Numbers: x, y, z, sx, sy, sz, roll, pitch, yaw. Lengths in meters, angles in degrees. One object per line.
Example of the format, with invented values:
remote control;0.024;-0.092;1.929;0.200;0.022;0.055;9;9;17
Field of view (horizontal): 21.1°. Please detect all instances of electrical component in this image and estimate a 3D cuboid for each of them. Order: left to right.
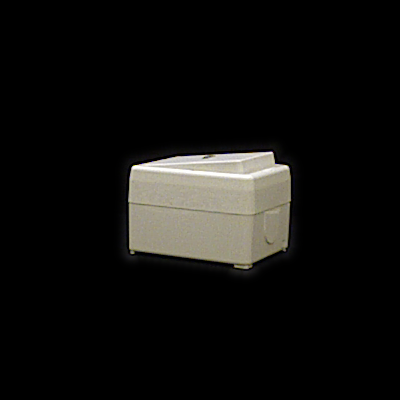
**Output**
electrical component;0.000;0.000;0.645;0.096;0.061;0.061;6;12;26
